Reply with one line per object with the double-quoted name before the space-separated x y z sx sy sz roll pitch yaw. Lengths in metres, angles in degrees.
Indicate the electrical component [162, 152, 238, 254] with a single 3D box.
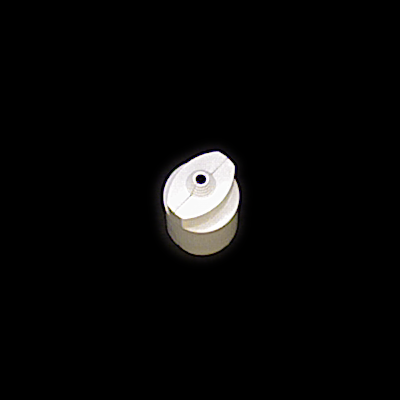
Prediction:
"electrical component" 0.000 0.000 0.616 0.043 0.043 0.080 0 -17 0
